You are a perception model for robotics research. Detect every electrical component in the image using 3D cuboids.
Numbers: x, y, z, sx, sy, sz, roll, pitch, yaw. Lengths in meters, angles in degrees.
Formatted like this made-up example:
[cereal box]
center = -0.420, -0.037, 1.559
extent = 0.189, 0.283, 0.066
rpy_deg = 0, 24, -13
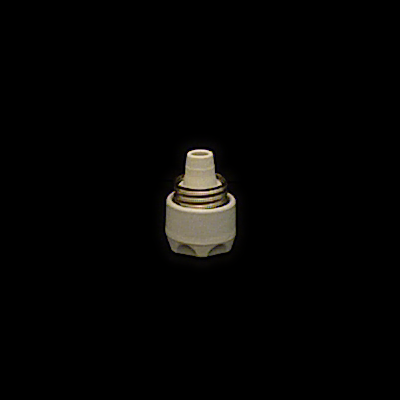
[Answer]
[electrical component]
center = 0.000, 0.000, 0.646
extent = 0.043, 0.063, 0.043
rpy_deg = 0, 21, 1
